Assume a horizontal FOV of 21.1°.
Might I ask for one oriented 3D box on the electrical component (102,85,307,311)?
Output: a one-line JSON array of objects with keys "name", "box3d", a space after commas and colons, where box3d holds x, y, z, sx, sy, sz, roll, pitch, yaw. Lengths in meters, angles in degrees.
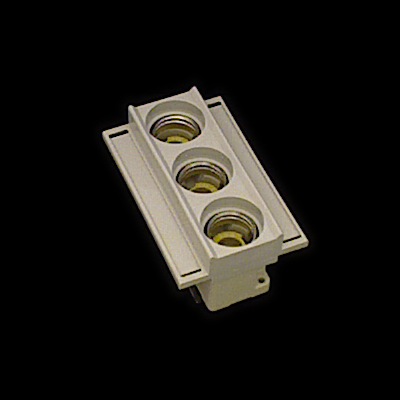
[{"name": "electrical component", "box3d": [0.000, 0.000, 0.640, 0.079, 0.120, 0.063, -18, -35, -15]}]
